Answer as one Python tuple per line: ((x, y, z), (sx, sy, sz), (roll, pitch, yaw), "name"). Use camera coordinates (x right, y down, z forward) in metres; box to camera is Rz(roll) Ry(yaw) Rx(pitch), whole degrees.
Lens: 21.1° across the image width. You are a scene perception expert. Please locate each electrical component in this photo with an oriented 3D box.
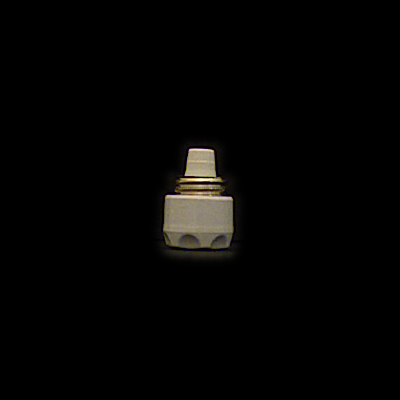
((0.000, 0.000, 0.657), (0.043, 0.062, 0.043), (2, 1, 0), "electrical component")
